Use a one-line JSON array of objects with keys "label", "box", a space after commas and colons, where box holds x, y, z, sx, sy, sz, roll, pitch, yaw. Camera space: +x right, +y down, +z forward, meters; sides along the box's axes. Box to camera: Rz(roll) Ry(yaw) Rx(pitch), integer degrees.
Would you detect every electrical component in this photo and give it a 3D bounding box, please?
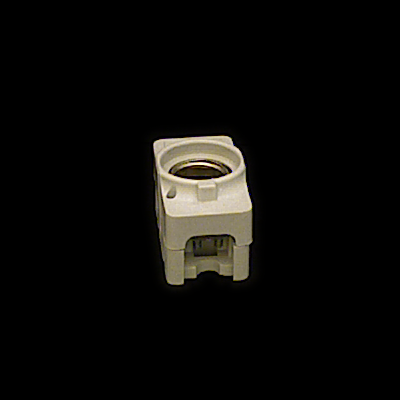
[{"label": "electrical component", "box": [0.000, 0.000, 0.642, 0.050, 0.056, 0.088, -4, 32, -7]}]
